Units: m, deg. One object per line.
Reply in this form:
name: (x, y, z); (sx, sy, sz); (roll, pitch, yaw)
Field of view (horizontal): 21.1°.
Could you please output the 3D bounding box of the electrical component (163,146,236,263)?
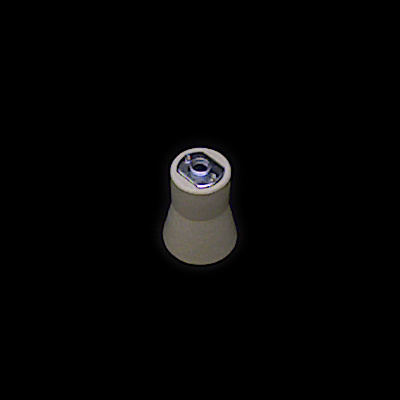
electrical component: (0.000, 0.000, 0.627); (0.044, 0.044, 0.065); (0, -39, -1)
